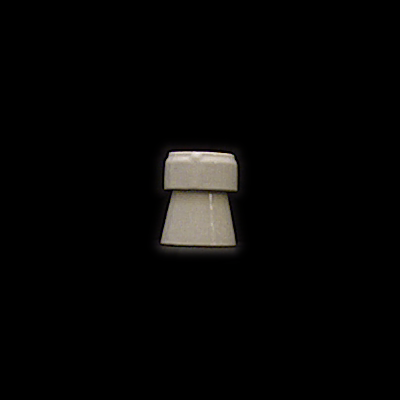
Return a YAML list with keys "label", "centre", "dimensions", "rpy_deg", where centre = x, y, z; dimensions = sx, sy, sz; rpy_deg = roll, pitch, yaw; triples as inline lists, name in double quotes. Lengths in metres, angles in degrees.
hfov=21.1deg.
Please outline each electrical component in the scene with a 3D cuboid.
- label: "electrical component"
  centre: [0.000, 0.000, 0.650]
  dimensions: [0.045, 0.055, 0.044]
  rpy_deg: [2, 2, 0]
